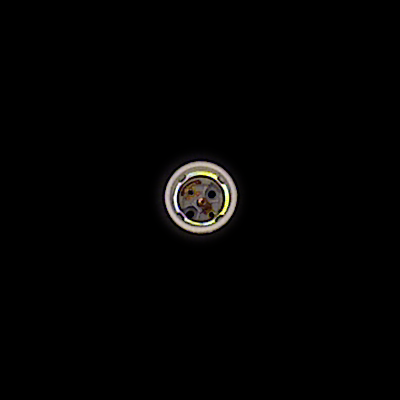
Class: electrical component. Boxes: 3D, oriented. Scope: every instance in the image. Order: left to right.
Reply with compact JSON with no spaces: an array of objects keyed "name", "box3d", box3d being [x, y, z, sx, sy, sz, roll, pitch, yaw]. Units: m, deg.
[{"name":"electrical component","box3d":[0.000,0.000,0.627,0.040,0.040,0.046,0,-6,0]}]
